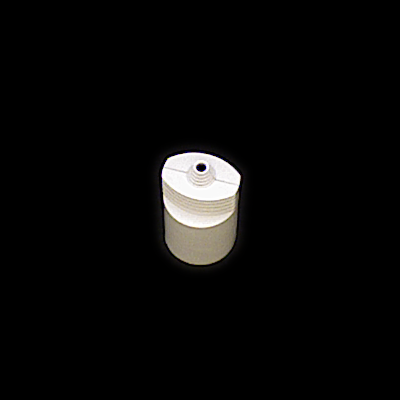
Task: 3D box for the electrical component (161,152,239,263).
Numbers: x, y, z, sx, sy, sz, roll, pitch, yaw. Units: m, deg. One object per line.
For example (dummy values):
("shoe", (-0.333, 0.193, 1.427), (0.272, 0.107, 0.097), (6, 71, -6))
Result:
("electrical component", (0.000, 0.000, 0.617), (0.043, 0.043, 0.081), (0, -27, 0))
